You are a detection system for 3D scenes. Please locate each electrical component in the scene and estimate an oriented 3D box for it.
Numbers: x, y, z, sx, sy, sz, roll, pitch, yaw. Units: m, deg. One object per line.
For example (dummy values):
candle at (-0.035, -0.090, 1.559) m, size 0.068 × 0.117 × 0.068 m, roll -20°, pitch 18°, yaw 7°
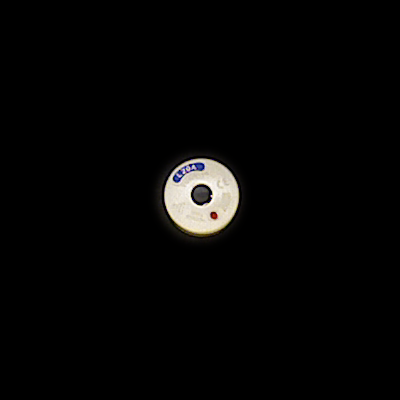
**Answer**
electrical component at (0.000, 0.000, 0.617) m, size 0.040 × 0.040 × 0.078 m, roll 0°, pitch -5°, yaw 0°
